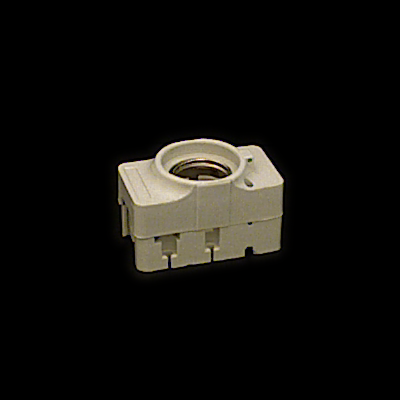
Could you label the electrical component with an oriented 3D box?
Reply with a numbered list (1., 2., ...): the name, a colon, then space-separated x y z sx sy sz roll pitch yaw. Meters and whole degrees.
1. electrical component: 0.000 0.000 0.642 0.090 0.056 0.049 -9 34 -16
